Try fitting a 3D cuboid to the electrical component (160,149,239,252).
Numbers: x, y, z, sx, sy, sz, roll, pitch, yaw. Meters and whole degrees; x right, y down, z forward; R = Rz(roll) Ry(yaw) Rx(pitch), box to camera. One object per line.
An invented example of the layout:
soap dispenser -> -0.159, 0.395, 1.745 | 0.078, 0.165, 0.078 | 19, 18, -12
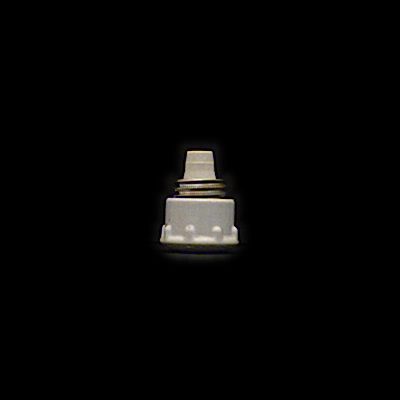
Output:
electrical component -> 0.000, 0.000, 0.654 | 0.048, 0.062, 0.048 | 0, 2, 1
